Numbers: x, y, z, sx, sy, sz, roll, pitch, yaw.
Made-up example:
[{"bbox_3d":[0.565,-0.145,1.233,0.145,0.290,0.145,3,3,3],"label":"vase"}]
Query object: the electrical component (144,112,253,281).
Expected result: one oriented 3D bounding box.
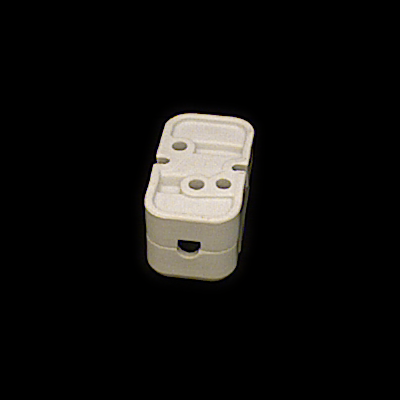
[{"bbox_3d":[0.000,0.000,0.639,0.053,0.060,0.094,6,42,6],"label":"electrical component"}]
